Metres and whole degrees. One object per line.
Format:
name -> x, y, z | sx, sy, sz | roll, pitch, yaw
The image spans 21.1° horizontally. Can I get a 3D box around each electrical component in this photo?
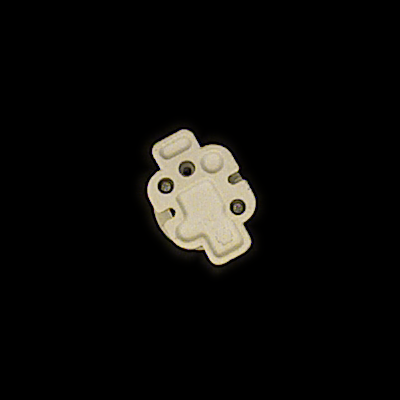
electrical component -> 0.000, 0.000, 0.637 | 0.058, 0.078, 0.056 | -29, -4, -3
